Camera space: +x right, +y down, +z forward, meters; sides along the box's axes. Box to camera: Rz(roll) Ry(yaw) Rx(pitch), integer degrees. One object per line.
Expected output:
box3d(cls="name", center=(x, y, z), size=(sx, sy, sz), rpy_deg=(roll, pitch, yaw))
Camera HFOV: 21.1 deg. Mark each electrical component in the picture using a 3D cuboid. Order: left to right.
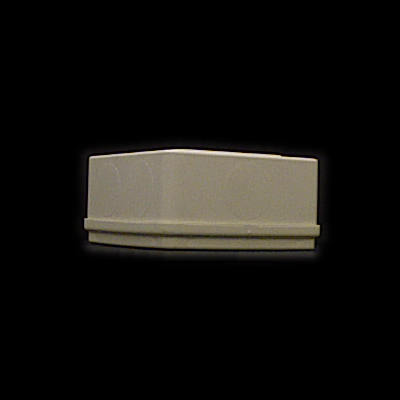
box3d(cls="electrical component", center=(0.000, 0.000, 0.652), size=(0.109, 0.056, 0.108), rpy_deg=(2, -1, -31))
